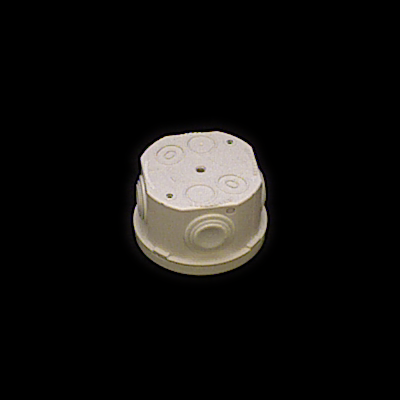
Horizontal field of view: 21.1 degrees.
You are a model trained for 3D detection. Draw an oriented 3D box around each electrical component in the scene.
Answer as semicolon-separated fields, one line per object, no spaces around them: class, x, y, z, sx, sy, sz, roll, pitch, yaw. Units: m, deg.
electrical component;0.000;0.000;0.633;0.080;0.051;0.080;0;43;0
